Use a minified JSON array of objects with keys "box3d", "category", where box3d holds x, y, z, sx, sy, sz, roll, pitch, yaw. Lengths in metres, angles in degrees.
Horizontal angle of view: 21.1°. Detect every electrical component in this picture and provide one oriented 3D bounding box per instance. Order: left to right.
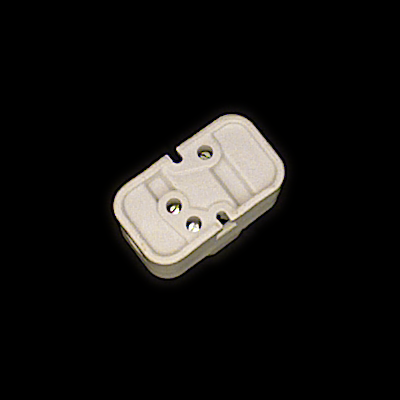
[{"box3d":[0.000,0.000,0.635,0.095,0.054,0.059,-36,-13,-10],"category":"electrical component"}]
